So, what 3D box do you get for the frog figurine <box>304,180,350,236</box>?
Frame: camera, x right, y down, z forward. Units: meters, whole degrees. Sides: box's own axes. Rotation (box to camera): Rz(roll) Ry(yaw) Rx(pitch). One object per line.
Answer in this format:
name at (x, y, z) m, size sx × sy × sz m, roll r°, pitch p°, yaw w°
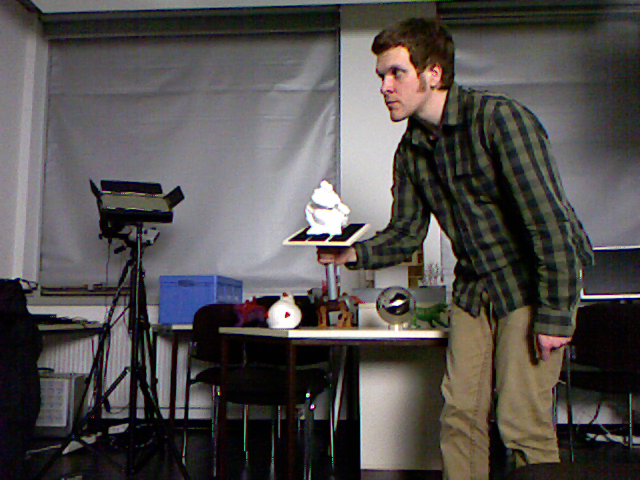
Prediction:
frog figurine at (0.017, -0.099, 1.481) m, size 0.138 × 0.158 × 0.124 m, roll 7°, pitch 19°, yaw 34°
